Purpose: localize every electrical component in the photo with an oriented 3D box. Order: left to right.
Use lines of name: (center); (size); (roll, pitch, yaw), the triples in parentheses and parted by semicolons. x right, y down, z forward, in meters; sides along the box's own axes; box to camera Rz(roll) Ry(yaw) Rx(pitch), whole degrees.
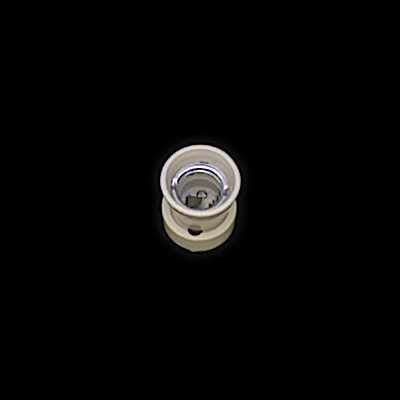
electrical component: (0.000, 0.000, 0.629); (0.045, 0.045, 0.055); (0, -27, -1)
